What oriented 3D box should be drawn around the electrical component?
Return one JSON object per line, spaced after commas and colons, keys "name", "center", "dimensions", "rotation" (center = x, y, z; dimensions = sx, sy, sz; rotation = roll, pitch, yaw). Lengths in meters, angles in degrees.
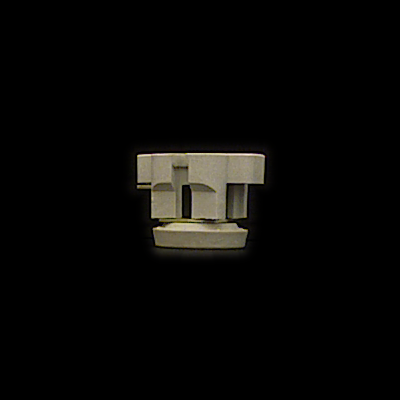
{"name": "electrical component", "center": [0.000, 0.000, 0.656], "dimensions": [0.078, 0.057, 0.058], "rotation": [0, 1, 25]}
